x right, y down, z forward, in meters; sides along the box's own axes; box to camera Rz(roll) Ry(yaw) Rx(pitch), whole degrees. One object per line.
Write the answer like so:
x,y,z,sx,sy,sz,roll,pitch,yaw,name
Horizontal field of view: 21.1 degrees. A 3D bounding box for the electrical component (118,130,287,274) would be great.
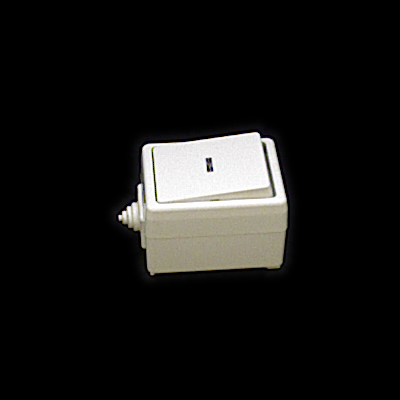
0.000,0.000,0.630,0.096,0.061,0.061,-3,42,-4,electrical component
